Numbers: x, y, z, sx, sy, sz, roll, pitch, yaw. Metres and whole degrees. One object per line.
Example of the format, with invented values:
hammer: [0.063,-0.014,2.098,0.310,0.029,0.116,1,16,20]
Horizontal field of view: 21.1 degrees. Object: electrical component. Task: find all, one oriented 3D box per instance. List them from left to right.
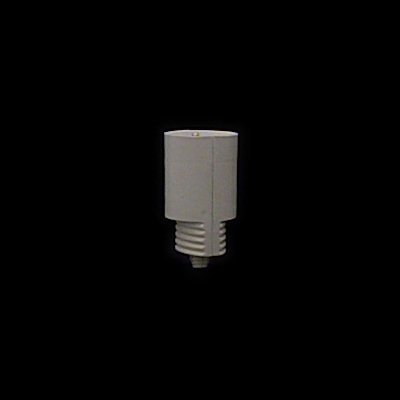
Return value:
electrical component: [0.000,0.000,0.642,0.043,0.081,0.043,2,10,0]
